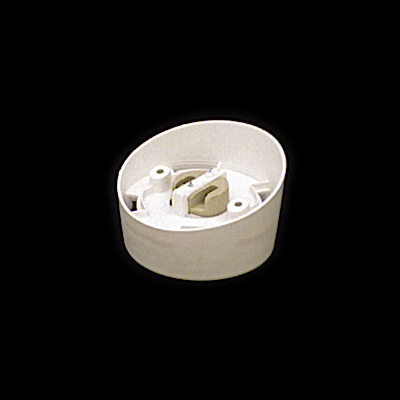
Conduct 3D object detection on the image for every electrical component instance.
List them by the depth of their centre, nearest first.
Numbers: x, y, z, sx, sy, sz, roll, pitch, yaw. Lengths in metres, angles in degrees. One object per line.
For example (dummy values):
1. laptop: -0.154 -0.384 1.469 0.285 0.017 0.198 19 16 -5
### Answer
1. electrical component: 0.000 0.000 0.634 0.099 0.065 0.097 1 30 0
